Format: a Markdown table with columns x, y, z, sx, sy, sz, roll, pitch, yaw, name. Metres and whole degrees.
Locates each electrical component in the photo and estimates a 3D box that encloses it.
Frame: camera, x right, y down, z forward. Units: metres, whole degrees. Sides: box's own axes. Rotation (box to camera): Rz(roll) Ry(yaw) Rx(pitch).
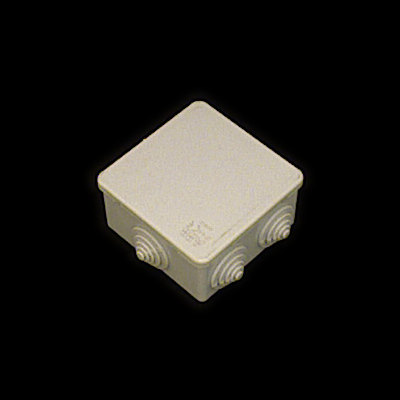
| x | y | z | sx | sy | sz | roll | pitch | yaw | name |
| --- | --- | --- | --- | --- | --- | --- | --- | --- | --- |
| 0.000 | 0.000 | 0.639 | 0.099 | 0.048 | 0.100 | 38 | 62 | 24 | electrical component |
